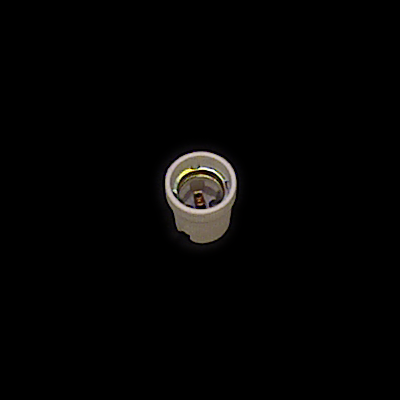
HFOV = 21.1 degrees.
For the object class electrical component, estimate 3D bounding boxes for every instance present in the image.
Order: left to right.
[{"bbox_3d":[0.000,0.000,0.627,0.040,0.040,0.046,0,-27,0],"label":"electrical component"}]
